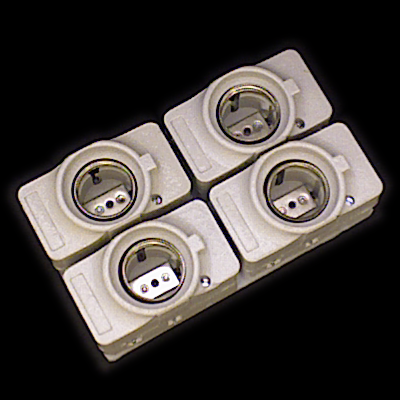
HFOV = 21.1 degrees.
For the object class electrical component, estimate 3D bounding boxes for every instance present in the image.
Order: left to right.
[{"bbox_3d":[0.000,0.000,0.625,0.187,0.106,0.060,-28,-15,-8],"label":"electrical component"}]
